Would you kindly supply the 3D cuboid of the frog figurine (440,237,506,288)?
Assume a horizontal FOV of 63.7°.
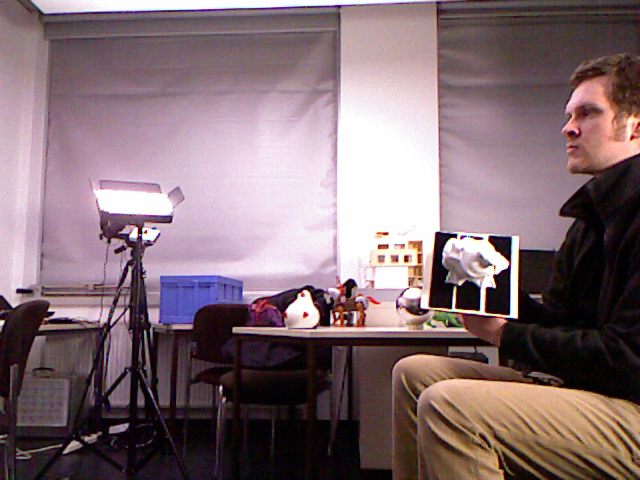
[{"bbox_3d":[0.333,0.035,1.122,0.138,0.125,0.156,22,-25,19],"label":"frog figurine"}]
